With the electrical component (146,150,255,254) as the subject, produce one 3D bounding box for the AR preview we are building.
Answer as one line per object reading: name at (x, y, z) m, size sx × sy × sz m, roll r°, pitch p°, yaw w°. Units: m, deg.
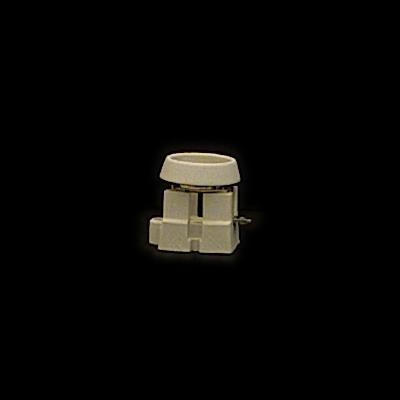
electrical component at (0.000, 0.000, 0.652) m, size 0.066 × 0.056 × 0.048 m, roll 3°, pitch 14°, yaw 7°
